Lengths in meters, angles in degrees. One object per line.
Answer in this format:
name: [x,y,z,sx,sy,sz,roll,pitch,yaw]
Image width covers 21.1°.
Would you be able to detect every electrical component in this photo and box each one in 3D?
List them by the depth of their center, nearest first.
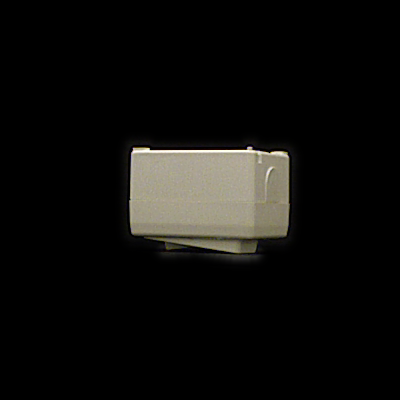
electrical component: [0.000,0.000,0.651,0.095,0.061,0.062,2,1,25]
